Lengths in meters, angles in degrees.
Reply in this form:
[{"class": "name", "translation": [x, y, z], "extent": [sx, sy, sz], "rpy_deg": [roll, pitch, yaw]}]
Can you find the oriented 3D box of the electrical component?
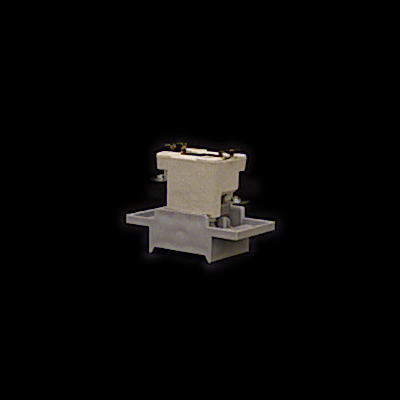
[{"class": "electrical component", "translation": [0.000, 0.000, 0.644], "extent": [0.080, 0.064, 0.042], "rpy_deg": [8, 13, 33]}]
